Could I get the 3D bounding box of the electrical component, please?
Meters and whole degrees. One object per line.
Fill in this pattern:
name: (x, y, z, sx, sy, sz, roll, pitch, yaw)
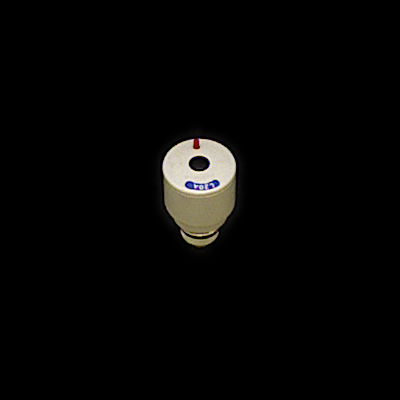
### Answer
electrical component: (0.000, 0.000, 0.622, 0.040, 0.040, 0.079, 0, -38, 0)
